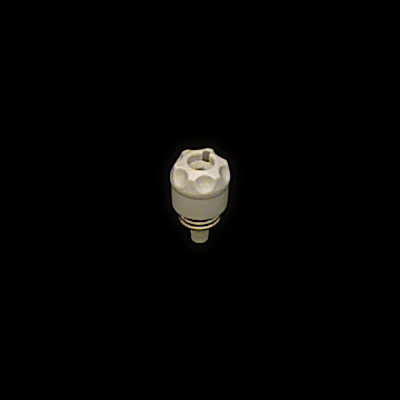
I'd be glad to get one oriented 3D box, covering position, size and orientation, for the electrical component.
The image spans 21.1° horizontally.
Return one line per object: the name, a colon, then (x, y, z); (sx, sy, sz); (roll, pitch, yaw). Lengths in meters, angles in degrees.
electrical component: (0.000, 0.000, 0.639); (0.035, 0.062, 0.035); (1, 42, 0)
